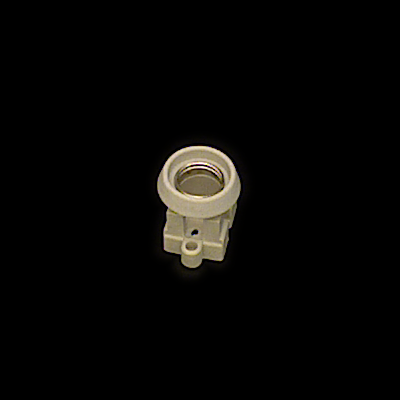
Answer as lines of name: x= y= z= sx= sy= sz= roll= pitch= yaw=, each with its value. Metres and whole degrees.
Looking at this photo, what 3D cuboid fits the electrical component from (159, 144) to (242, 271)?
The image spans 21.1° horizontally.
electrical component: x=0.000 y=0.000 z=0.638 sx=0.048 sy=0.066 sz=0.056 roll=10 pitch=-36 yaw=5
